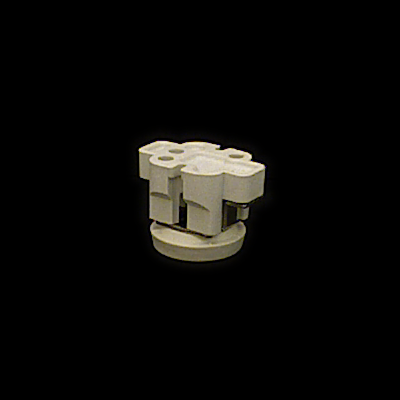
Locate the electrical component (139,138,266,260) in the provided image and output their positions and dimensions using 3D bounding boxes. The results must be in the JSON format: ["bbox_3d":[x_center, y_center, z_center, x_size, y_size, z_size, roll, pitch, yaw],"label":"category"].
[{"bbox_3d":[0.000,0.000,0.647,0.078,0.057,0.058,16,25,29],"label":"electrical component"}]
